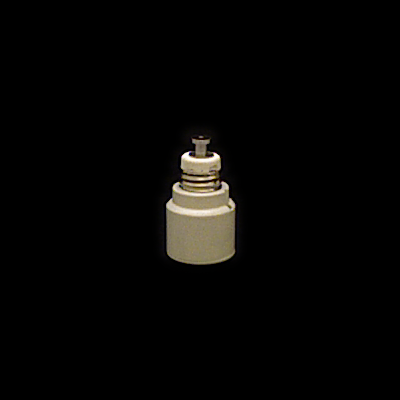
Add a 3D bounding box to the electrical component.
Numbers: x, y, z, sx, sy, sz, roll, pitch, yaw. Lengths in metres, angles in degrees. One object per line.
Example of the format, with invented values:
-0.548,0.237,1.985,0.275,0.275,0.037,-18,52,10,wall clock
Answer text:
0.000,0.000,0.634,0.040,0.079,0.039,0,21,0,electrical component
